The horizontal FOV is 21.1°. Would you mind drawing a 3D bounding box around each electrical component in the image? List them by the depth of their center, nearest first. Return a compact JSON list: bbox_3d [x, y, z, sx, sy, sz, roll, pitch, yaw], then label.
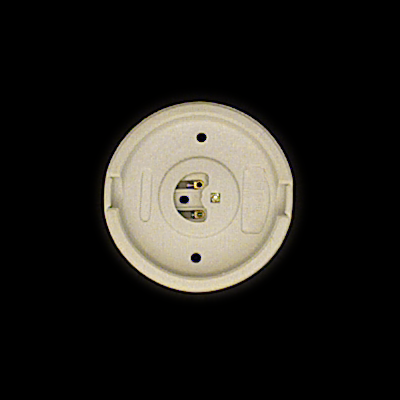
[{"bbox_3d":[0.000,0.000,0.635,0.108,0.108,0.060,0,-6,0],"label":"electrical component"}]
